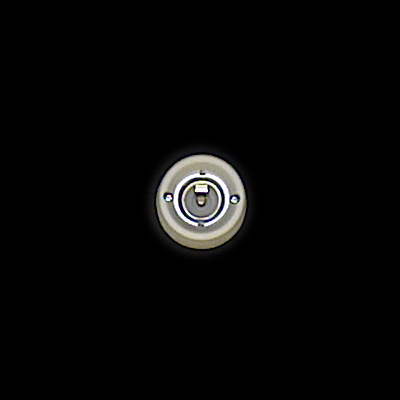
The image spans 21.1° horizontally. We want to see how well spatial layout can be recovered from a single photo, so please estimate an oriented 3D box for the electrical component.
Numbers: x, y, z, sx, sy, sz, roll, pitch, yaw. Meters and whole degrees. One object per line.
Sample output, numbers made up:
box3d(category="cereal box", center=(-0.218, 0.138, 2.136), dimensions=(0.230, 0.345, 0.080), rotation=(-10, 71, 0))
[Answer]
box3d(category="electrical component", center=(0.000, 0.000, 0.634), dimensions=(0.055, 0.055, 0.047), rotation=(0, -6, -1))
